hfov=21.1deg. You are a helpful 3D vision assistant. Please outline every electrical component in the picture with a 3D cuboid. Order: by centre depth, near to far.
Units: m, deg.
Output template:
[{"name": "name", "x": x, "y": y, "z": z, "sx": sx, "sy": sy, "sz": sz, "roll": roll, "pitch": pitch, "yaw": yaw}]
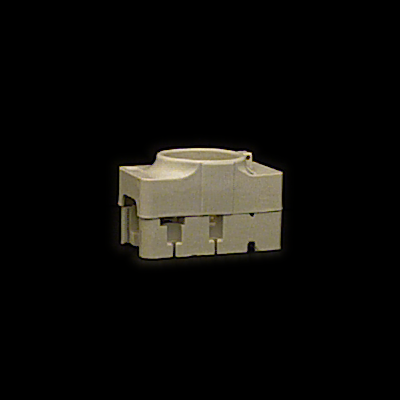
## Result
[{"name": "electrical component", "x": 0.000, "y": 0.000, "z": 0.651, "sx": 0.090, "sy": 0.056, "sz": 0.049, "roll": -4, "pitch": 13, "yaw": -23}]
